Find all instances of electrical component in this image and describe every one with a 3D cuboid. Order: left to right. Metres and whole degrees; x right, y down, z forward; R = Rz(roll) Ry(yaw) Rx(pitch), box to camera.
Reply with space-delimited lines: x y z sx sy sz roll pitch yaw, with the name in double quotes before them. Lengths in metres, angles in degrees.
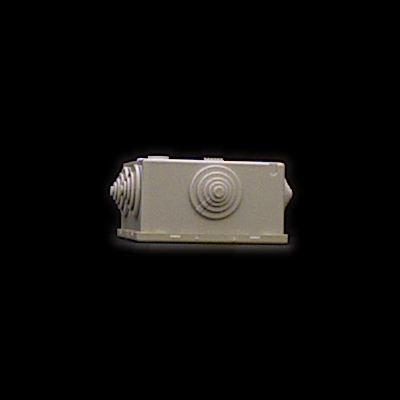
"electrical component" 0.000 0.000 0.649 0.100 0.048 0.099 1 0 -13
